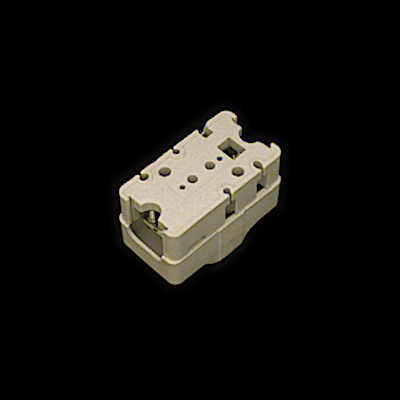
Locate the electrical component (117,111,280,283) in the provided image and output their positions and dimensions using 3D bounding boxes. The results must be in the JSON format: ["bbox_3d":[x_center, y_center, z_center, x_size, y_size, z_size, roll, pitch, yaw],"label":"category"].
[{"bbox_3d":[0.000,0.000,0.637,0.090,0.056,0.050,-38,61,-26],"label":"electrical component"}]
